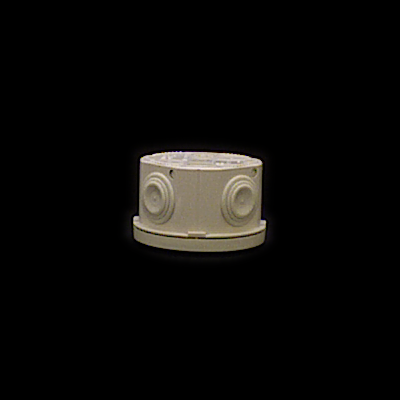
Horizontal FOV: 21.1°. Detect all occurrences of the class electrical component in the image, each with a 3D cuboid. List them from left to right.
[{"bbox_3d":[0.000,0.000,0.646,0.080,0.051,0.079,2,10,0],"label":"electrical component"}]
